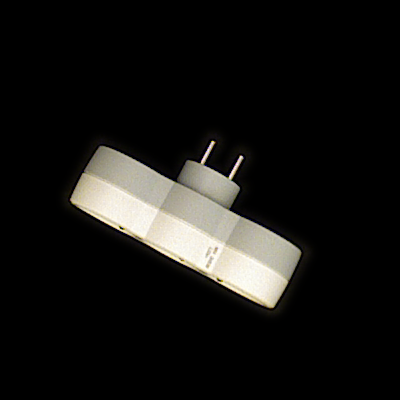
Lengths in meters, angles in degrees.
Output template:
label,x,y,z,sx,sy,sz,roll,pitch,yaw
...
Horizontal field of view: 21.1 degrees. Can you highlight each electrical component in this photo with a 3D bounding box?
label,x,y,z,sx,sy,sz,roll,pitch,yaw
electrical component,0.000,0.000,0.639,0.138,0.074,0.052,28,-6,3
